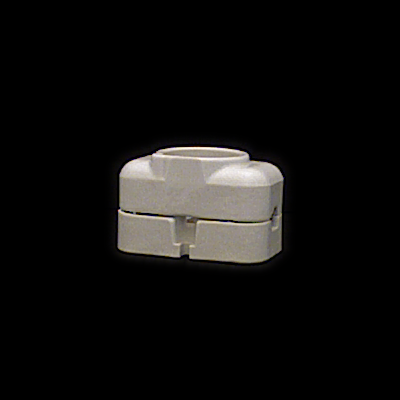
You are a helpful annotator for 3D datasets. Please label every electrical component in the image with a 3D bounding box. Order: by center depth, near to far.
[{"bbox_3d":[0.000,0.000,0.649,0.094,0.060,0.053,5,12,19],"label":"electrical component"}]
